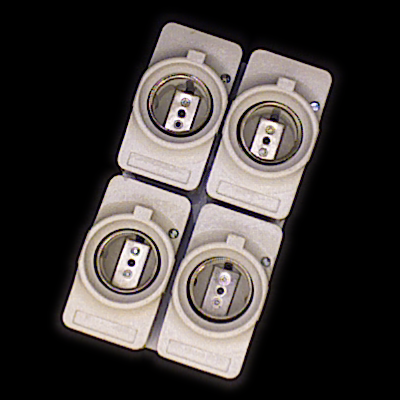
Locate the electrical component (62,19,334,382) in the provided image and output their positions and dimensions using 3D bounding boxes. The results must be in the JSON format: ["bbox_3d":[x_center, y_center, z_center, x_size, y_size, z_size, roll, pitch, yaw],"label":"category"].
[{"bbox_3d":[0.000,0.000,0.626,0.105,0.187,0.060,18,-7,2],"label":"electrical component"}]
